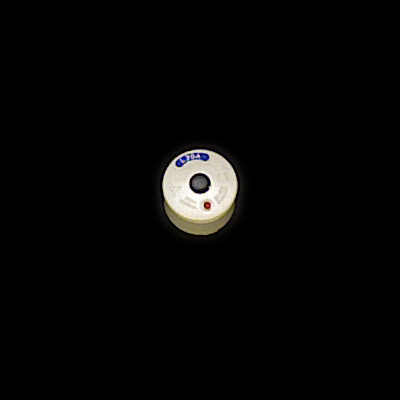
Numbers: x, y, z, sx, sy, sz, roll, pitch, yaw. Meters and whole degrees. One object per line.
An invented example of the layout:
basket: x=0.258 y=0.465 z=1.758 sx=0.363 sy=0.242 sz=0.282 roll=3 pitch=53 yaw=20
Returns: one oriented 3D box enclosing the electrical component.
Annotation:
electrical component: x=0.000 y=0.000 z=0.616 sx=0.040 sy=0.040 sz=0.078 roll=0 pitch=-16 yaw=0
